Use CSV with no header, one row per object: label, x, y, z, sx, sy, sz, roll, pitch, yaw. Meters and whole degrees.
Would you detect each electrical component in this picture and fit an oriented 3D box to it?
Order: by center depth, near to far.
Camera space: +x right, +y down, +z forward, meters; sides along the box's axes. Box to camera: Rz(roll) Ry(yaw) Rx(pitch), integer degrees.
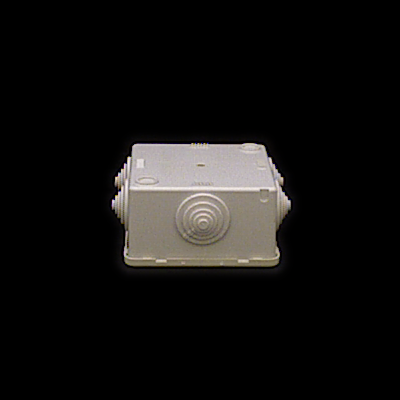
electrical component,0.000,0.000,0.640,0.100,0.049,0.098,0,21,-2
